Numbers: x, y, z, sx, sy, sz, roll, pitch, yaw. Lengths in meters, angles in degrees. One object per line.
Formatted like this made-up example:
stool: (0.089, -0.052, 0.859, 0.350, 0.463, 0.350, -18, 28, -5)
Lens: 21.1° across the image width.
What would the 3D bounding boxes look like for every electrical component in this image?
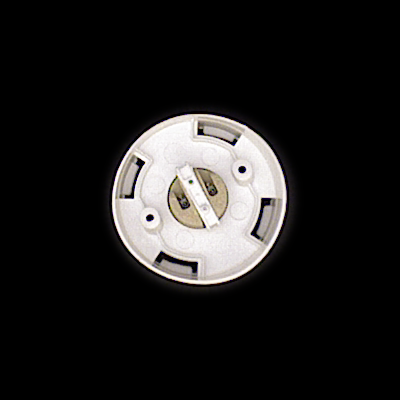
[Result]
electrical component: (0.000, 0.000, 0.624, 0.099, 0.099, 0.064, 0, -6, -1)
